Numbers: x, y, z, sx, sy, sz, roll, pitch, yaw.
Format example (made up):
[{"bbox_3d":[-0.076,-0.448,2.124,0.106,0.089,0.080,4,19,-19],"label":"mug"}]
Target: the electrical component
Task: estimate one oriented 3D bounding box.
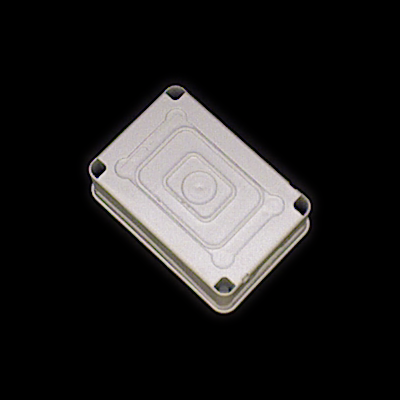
[{"bbox_3d":[0.000,0.000,0.628,0.113,0.078,0.057,42,-12,12],"label":"electrical component"}]
